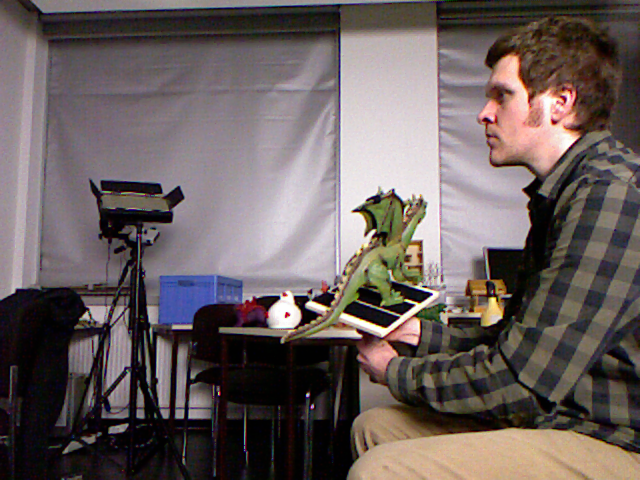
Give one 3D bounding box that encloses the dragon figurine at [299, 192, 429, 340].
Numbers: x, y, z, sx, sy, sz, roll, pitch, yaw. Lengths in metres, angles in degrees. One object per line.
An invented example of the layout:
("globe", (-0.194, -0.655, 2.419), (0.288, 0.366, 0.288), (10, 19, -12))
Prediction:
("dragon figurine", (0.104, 0.018, 1.028), (0.123, 0.238, 0.416), (19, 33, 36))
